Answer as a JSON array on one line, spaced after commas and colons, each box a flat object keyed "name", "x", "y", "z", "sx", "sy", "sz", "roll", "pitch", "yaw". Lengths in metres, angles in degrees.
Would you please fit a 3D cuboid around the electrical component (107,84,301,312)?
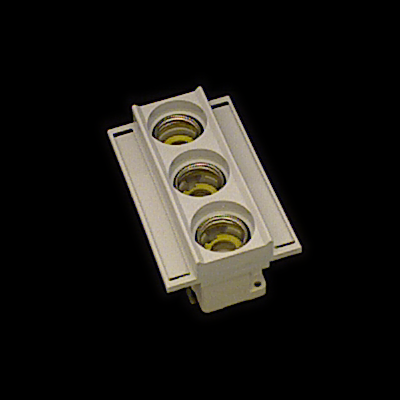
[{"name": "electrical component", "x": 0.000, "y": 0.000, "z": 0.638, "sx": 0.079, "sy": 0.120, "sz": 0.063, "roll": -16, "pitch": -35, "yaw": -10}]
